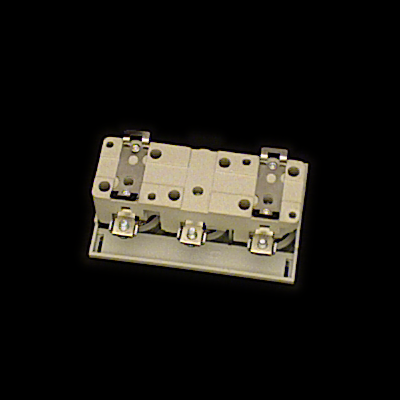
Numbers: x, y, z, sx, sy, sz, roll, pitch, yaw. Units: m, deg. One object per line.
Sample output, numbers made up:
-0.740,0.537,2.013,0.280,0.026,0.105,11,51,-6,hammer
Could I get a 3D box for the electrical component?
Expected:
0.000,0.000,0.635,0.121,0.078,0.063,7,-27,3,electrical component
